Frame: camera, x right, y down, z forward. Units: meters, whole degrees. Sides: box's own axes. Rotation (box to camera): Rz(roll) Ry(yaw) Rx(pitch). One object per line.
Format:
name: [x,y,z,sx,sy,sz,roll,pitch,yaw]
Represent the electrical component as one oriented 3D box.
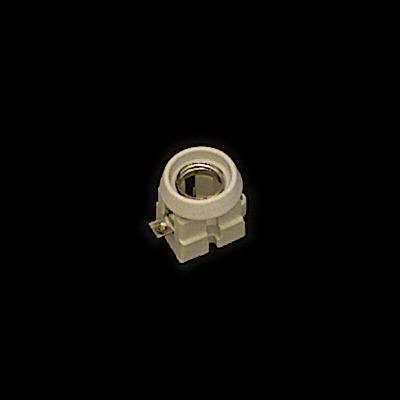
electrical component: [0.000,0.000,0.637,0.067,0.048,0.055,-24,-35,-17]
